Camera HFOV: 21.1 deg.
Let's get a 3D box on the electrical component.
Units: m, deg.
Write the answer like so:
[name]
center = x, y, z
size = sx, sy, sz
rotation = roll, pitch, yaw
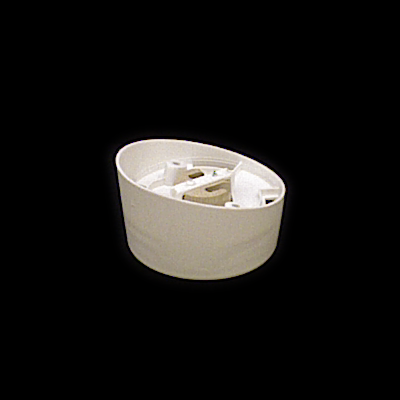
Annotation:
[electrical component]
center = 0.000, 0.000, 0.631
size = 0.099, 0.065, 0.097
rotation = 0, 32, 0
